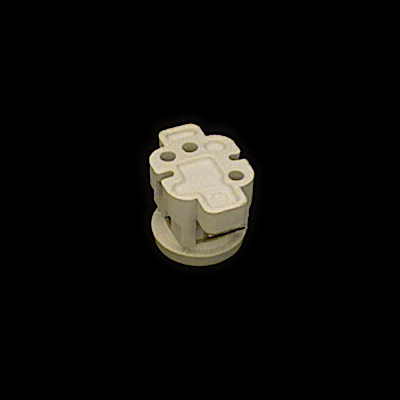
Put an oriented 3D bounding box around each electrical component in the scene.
[{"bbox_3d":[0.000,0.000,0.638,0.058,0.057,0.077,-16,47,-18],"label":"electrical component"}]
